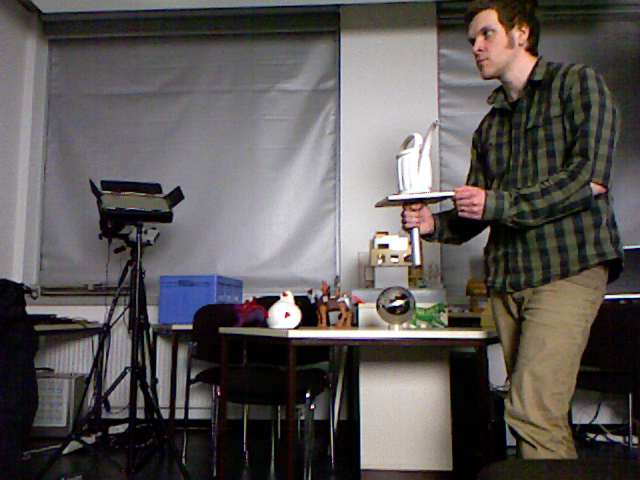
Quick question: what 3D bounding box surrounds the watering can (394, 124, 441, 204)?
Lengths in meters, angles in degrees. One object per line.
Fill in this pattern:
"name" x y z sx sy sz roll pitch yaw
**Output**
"watering can" 0.295 -0.221 1.566 0.104 0.225 0.347 -5 -2 -9
